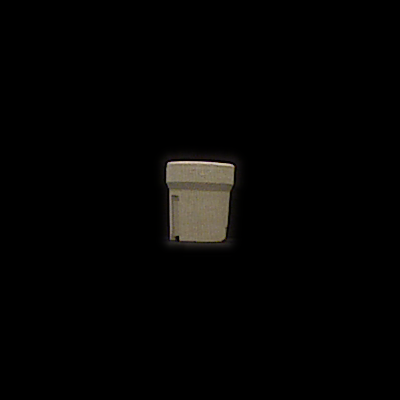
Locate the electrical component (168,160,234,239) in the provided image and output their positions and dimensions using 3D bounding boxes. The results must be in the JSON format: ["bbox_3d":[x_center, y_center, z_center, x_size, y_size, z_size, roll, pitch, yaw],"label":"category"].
[{"bbox_3d":[0.000,0.000,0.650,0.040,0.046,0.040,1,1,0],"label":"electrical component"}]
